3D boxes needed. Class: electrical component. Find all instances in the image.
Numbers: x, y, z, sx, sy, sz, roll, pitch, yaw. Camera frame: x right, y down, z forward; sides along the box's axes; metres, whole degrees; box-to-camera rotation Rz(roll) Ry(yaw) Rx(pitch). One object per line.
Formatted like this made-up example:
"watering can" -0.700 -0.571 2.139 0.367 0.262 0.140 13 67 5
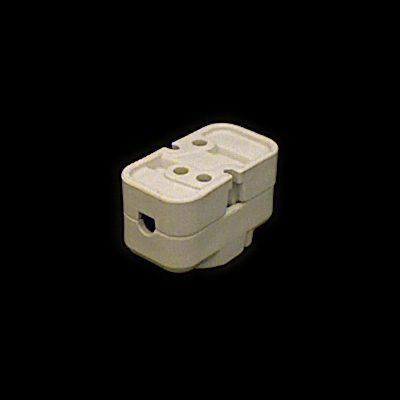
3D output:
"electrical component" 0.000 0.000 0.641 0.053 0.060 0.095 26 39 34
